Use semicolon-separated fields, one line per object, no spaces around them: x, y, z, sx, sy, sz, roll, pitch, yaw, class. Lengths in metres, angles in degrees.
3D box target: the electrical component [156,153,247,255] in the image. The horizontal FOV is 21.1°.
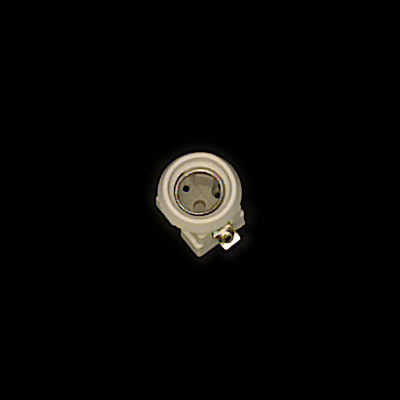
0.000;0.000;0.637;0.048;0.066;0.055;-39;-13;-8;electrical component
